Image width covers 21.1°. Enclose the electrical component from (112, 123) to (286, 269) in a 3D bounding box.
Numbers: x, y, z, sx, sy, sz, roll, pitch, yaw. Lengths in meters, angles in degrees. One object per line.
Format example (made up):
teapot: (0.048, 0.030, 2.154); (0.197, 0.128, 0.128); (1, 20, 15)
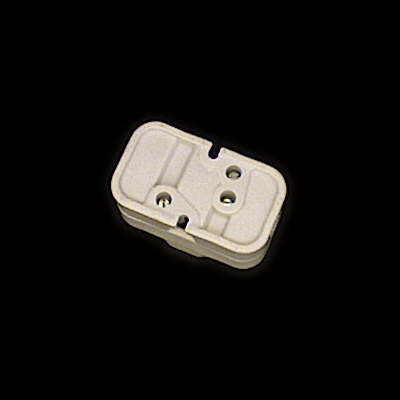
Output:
electrical component: (0.000, 0.000, 0.636); (0.095, 0.054, 0.059); (22, -14, 7)
